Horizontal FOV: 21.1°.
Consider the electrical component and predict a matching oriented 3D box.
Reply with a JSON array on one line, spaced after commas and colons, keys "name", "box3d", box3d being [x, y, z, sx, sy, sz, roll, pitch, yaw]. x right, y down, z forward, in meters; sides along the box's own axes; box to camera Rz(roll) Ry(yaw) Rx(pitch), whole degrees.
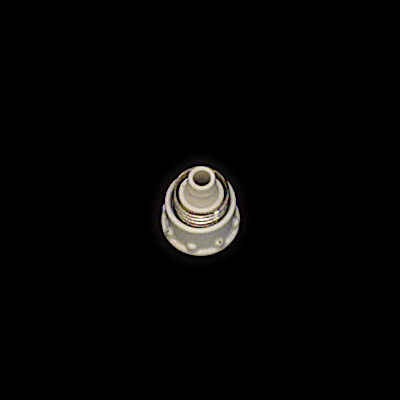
[{"name": "electrical component", "box3d": [0.000, 0.000, 0.634, 0.048, 0.048, 0.062, 0, -26, -1]}]
